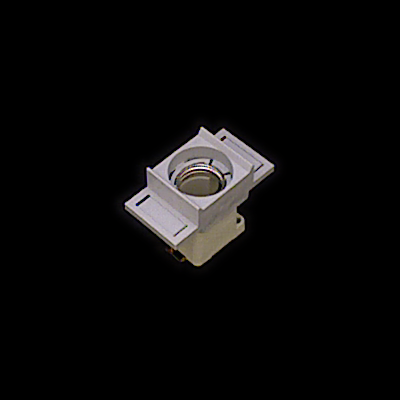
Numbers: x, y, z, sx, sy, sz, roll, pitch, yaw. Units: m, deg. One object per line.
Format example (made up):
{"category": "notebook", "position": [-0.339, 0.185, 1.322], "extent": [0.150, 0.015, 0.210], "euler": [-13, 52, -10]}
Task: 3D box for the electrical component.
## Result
{"category": "electrical component", "position": [0.000, 0.000, 0.627], "extent": [0.081, 0.064, 0.042], "euler": [-38, 60, -25]}
